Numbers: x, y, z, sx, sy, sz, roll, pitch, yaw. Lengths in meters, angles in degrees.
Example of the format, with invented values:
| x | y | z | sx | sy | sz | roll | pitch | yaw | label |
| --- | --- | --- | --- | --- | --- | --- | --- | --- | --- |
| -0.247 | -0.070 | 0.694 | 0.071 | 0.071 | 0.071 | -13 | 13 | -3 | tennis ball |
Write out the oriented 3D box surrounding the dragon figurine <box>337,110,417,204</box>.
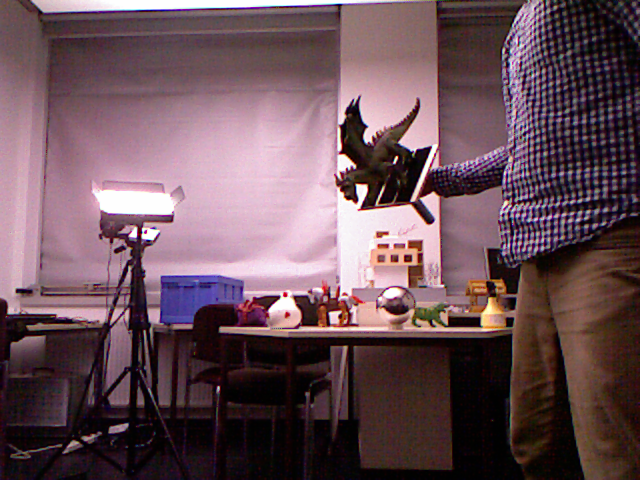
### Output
| x | y | z | sx | sy | sz | roll | pitch | yaw | label |
| --- | --- | --- | --- | --- | --- | --- | --- | --- | --- |
| 0.148 | -0.258 | 1.408 | 0.122 | 0.419 | 0.240 | -4 | -33 | 41 | dragon figurine |
